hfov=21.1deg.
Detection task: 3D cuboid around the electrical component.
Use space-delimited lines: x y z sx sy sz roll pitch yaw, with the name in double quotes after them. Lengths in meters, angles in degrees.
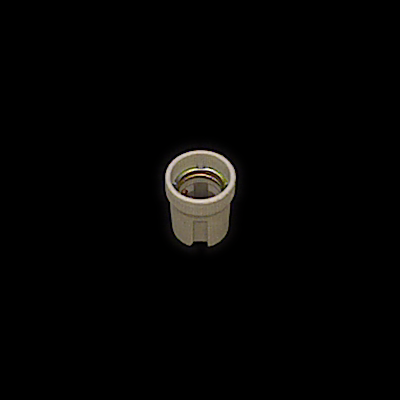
0.000 0.000 0.632 0.040 0.039 0.047 0 -38 -1 "electrical component"
